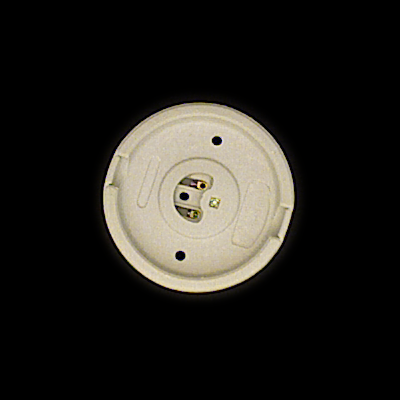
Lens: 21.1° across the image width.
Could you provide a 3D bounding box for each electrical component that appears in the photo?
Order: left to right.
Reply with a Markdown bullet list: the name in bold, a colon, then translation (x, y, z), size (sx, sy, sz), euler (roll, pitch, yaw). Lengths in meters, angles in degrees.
- **electrical component**: translation (0.000, 0.000, 0.635), size (0.108, 0.108, 0.060), euler (0, -6, 0)
